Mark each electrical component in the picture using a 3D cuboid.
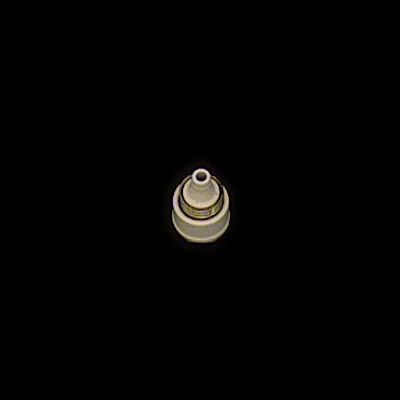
[{"bbox_3d":[0.000,0.000,0.637,0.035,0.035,0.061,0,-27,-1],"label":"electrical component"}]
